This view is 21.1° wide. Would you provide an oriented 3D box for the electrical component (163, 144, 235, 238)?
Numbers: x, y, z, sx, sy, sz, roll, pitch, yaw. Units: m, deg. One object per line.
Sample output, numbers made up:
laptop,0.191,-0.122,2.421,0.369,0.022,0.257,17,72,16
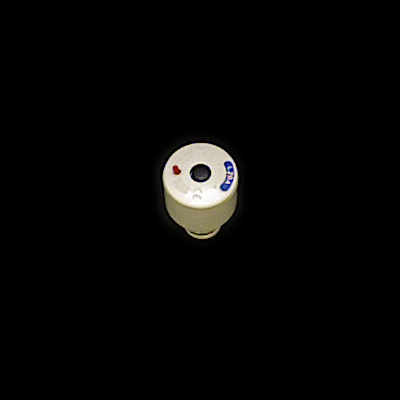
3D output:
electrical component,0.000,0.000,0.618,0.040,0.040,0.078,0,-27,1
